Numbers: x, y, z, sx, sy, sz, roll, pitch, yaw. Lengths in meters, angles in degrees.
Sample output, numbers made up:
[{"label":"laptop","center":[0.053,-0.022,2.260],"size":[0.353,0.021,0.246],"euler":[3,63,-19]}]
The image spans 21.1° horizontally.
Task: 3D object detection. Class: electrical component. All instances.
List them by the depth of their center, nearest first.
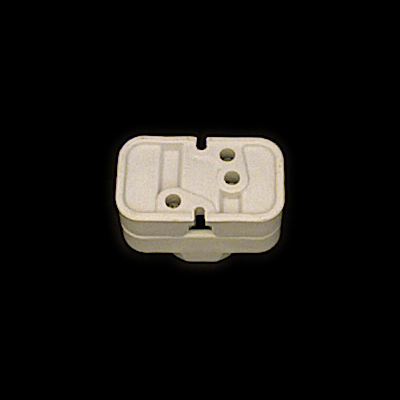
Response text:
[{"label":"electrical component","center":[0.000,0.000,0.636],"size":[0.095,0.053,0.059],"euler":[0,-27,1]}]
